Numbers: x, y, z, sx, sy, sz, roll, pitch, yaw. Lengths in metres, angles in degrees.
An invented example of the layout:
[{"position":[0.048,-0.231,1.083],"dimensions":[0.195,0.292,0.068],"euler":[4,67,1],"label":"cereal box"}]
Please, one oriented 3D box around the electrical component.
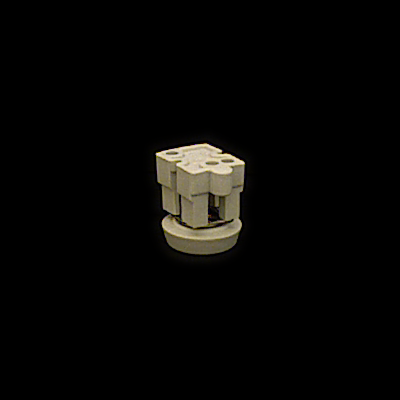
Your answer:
[{"position":[0.000,0.000,0.647],"dimensions":[0.048,0.056,0.065],"euler":[-13,25,-28],"label":"electrical component"}]
